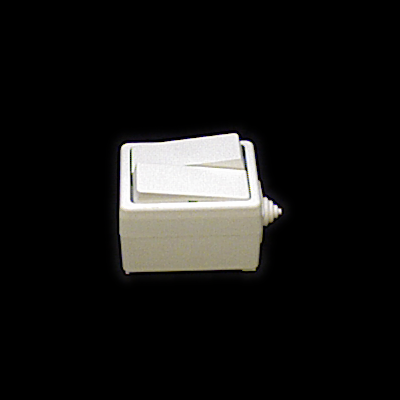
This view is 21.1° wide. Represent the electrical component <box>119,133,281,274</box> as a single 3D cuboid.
[{"bbox_3d":[0.000,0.000,0.631,0.096,0.061,0.061,-1,42,-2],"label":"electrical component"}]
